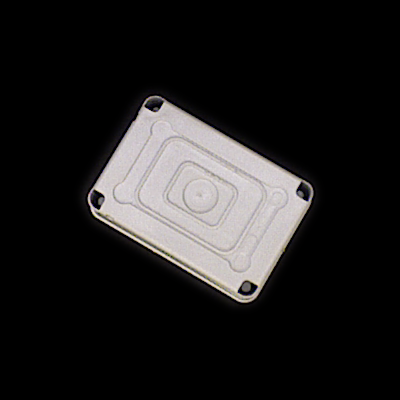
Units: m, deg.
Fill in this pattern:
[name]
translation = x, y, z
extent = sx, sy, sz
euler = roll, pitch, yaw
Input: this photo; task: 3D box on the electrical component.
[electrical component]
translation = 0.000, 0.000, 0.629
extent = 0.113, 0.078, 0.057
euler = 31, -6, 3
